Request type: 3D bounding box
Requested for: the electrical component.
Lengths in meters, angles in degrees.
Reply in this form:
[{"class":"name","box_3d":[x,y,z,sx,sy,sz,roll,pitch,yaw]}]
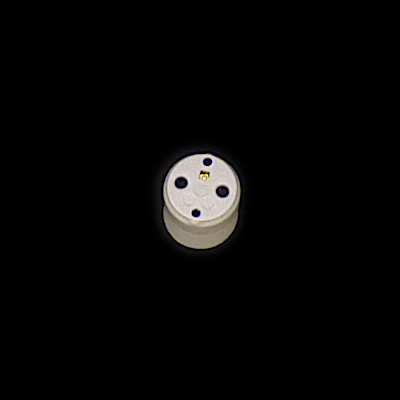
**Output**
[{"class":"electrical component","box_3d":[0.000,0.000,0.629,0.045,0.045,0.055,0,-16,0]}]
